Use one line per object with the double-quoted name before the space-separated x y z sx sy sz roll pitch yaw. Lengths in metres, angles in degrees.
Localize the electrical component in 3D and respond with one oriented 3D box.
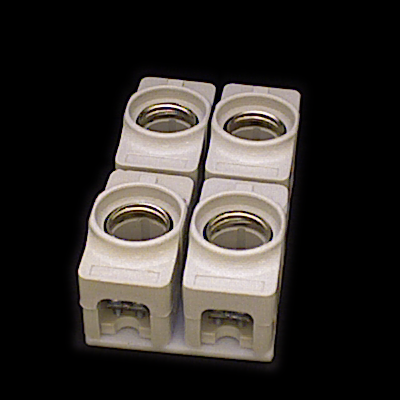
"electrical component" 0.000 0.000 0.630 0.105 0.061 0.184 6 42 5
